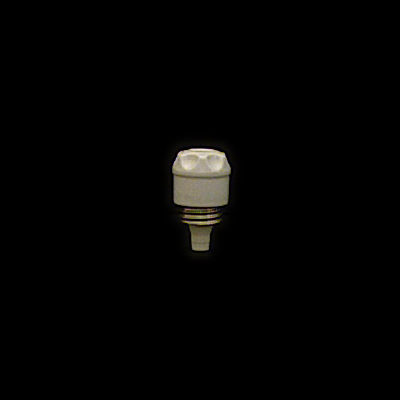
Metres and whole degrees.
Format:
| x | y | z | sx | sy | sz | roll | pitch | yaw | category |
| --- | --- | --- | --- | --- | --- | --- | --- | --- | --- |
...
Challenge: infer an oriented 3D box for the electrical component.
| x | y | z | sx | sy | sz | roll | pitch | yaw | category |
| --- | --- | --- | --- | --- | --- | --- | --- | --- | --- |
| 0.000 | 0.000 | 0.653 | 0.035 | 0.062 | 0.035 | 1 | 12 | 0 | electrical component |
